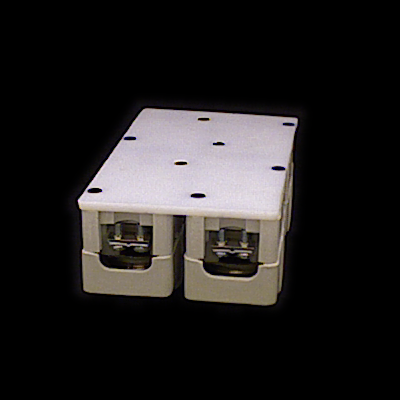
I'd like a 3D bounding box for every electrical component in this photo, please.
[{"bbox_3d":[0.000,0.000,0.638,0.105,0.061,0.184,4,21,7],"label":"electrical component"}]
